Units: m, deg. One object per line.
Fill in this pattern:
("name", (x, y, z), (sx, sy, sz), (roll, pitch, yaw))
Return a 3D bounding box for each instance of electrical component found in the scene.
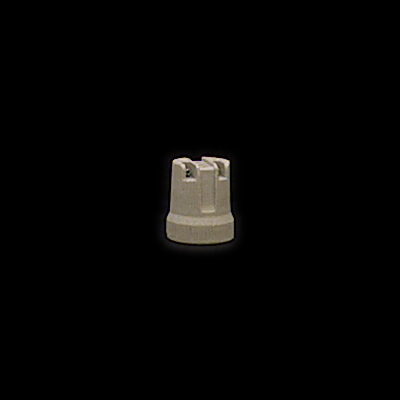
("electrical component", (0.000, 0.000, 0.644), (0.040, 0.046, 0.040), (1, 11, 0))
